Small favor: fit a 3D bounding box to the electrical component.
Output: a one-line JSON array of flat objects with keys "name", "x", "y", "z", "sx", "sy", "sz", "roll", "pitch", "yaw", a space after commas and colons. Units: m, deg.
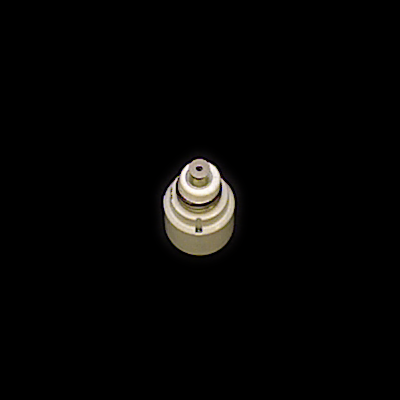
[{"name": "electrical component", "x": 0.000, "y": 0.000, "z": 0.619, "sx": 0.040, "sy": 0.040, "sz": 0.078, "roll": 0, "pitch": -26, "yaw": -1}]
